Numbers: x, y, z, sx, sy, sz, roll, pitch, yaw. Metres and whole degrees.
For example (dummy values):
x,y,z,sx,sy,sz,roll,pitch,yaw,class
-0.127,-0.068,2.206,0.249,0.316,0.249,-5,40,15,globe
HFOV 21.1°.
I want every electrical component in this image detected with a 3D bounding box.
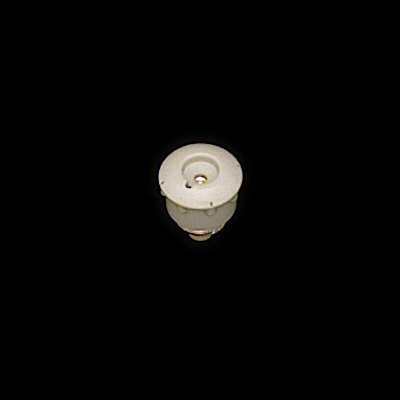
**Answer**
x,y,z,sx,sy,sz,roll,pitch,yaw,class
0.000,0.000,0.634,0.048,0.048,0.062,0,-37,0,electrical component
